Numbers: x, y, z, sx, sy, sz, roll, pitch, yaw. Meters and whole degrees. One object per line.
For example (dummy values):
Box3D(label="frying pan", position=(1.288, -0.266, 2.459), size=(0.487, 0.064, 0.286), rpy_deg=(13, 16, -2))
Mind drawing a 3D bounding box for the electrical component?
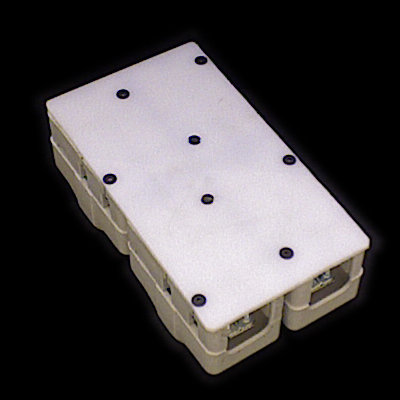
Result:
Box3D(label="electrical component", position=(0.000, 0.000, 0.627), size=(0.105, 0.185, 0.060), rpy_deg=(-26, -33, -19))
